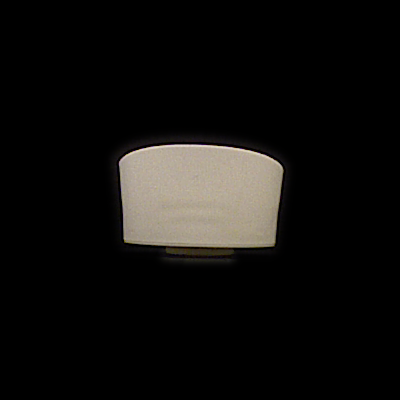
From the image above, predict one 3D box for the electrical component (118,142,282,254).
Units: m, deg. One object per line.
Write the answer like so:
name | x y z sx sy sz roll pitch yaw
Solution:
electrical component | 0.000 0.000 0.649 0.099 0.064 0.099 2 1 0
